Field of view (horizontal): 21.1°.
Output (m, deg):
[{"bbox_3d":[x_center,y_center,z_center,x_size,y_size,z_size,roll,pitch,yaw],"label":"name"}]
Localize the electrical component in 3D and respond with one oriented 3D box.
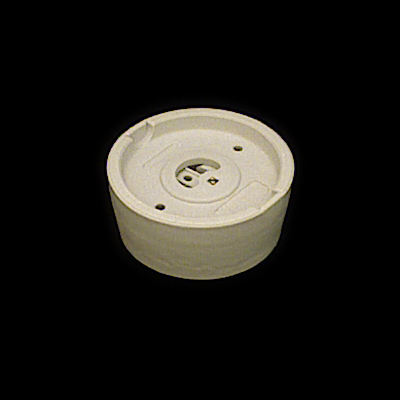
[{"bbox_3d":[0.000,0.000,0.638,0.108,0.061,0.107,0,42,0],"label":"electrical component"}]
